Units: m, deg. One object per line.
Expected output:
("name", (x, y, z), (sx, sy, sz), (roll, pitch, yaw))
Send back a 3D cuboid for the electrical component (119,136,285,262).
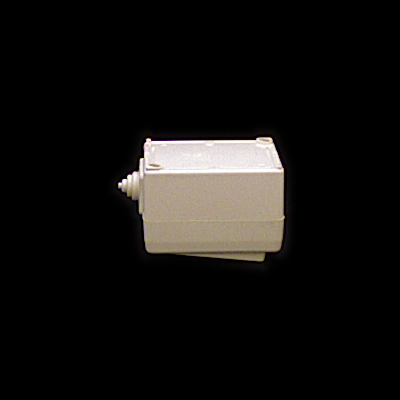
("electrical component", (0.000, 0.000, 0.642), (0.096, 0.061, 0.061), (-1, 21, -3))
